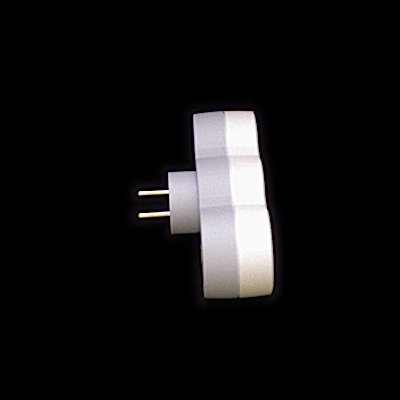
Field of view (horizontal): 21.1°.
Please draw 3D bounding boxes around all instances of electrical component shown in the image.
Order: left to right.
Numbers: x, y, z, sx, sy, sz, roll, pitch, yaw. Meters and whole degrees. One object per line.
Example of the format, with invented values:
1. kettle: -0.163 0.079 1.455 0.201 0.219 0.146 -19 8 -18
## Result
1. electrical component: 0.000 0.000 0.631 0.074 0.052 0.137 -3 43 -1
